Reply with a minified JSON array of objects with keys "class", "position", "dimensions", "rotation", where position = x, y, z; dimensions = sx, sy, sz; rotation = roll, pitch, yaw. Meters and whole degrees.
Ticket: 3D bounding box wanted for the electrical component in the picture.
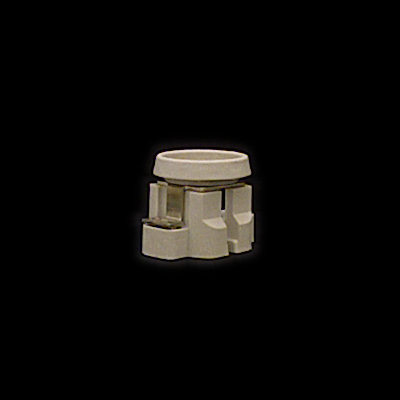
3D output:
[{"class":"electrical component","position":[0.000,0.000,0.642],"dimensions":[0.057,0.057,0.078],"rotation":[11,14,41]}]
